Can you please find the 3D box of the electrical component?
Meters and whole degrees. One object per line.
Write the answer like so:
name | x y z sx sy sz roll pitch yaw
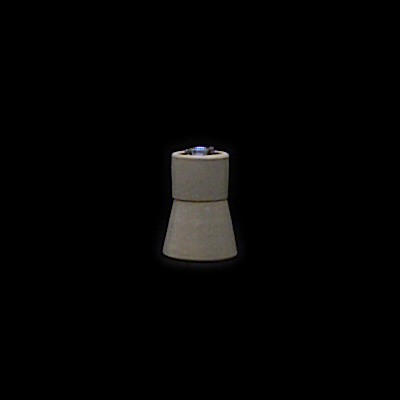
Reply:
electrical component | 0.000 0.000 0.646 0.044 0.066 0.044 0 11 0
